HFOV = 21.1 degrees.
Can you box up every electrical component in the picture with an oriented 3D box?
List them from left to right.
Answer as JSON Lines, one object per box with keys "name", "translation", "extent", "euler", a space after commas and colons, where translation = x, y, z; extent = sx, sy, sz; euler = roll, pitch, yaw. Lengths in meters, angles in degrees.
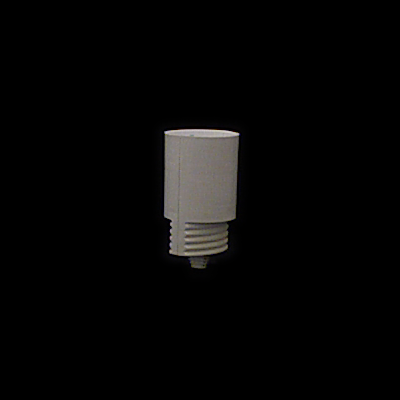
{"name": "electrical component", "translation": [0.000, 0.000, 0.639], "extent": [0.043, 0.082, 0.043], "euler": [0, 11, 0]}
